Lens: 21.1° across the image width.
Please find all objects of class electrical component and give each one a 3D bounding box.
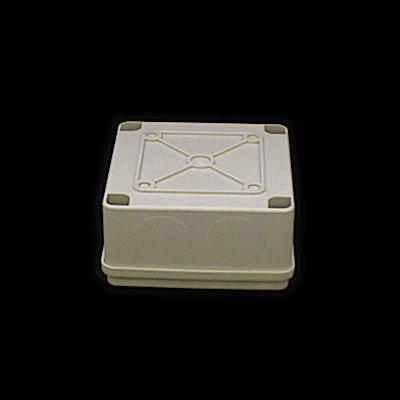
[{"bbox_3d":[0.000,0.000,0.635,0.109,0.057,0.107,1,31,1],"label":"electrical component"}]
